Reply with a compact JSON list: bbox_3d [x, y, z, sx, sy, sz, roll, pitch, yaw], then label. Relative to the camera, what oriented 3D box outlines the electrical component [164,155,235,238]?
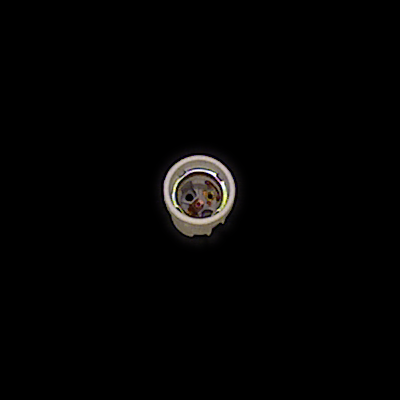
[{"bbox_3d":[0.000,0.000,0.626,0.040,0.040,0.046,0,-17,0],"label":"electrical component"}]
